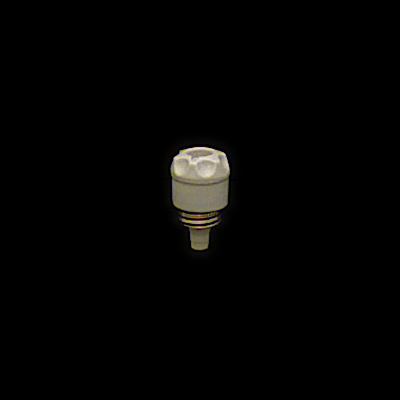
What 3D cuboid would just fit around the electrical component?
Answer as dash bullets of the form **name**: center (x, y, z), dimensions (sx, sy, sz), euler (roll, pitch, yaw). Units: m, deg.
- **electrical component**: center (0.000, 0.000, 0.644), dimensions (0.035, 0.062, 0.035), euler (1, 22, 0)
